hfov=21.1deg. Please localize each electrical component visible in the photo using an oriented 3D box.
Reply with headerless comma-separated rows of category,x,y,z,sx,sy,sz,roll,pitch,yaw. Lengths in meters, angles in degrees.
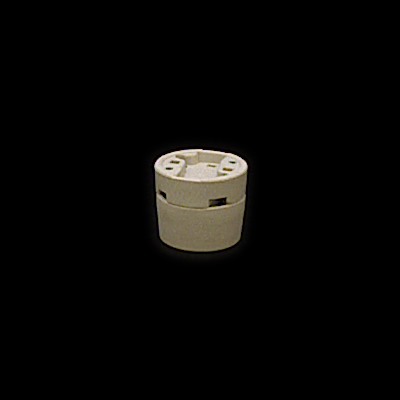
electrical component,0.000,0.000,0.640,0.055,0.047,0.055,1,21,0
